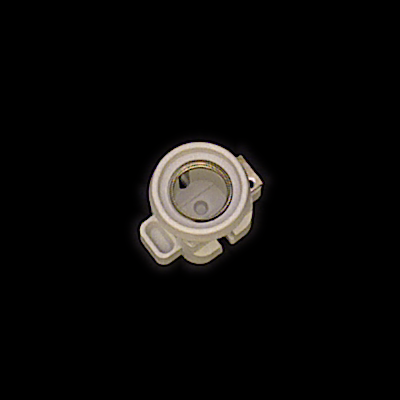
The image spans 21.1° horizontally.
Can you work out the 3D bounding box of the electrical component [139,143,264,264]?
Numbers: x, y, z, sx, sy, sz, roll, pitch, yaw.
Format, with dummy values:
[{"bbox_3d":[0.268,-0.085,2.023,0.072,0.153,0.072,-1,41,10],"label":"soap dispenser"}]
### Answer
[{"bbox_3d":[0.000,0.000,0.629,0.079,0.058,0.056,-36,-13,-10],"label":"electrical component"}]
